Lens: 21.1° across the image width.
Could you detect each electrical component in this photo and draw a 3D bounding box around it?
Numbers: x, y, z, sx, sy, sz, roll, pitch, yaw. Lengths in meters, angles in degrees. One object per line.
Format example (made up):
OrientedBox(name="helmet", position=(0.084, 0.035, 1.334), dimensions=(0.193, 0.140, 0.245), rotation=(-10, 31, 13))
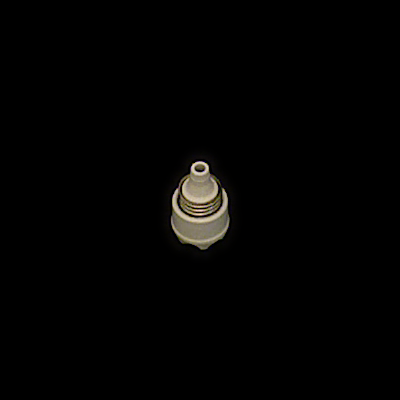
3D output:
OrientedBox(name="electrical component", position=(0.000, 0.000, 0.639), dimensions=(0.035, 0.035, 0.062), rotation=(0, -39, -1))
